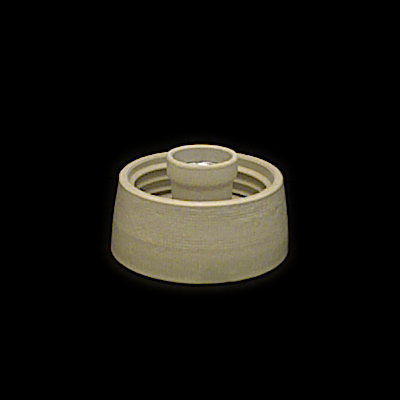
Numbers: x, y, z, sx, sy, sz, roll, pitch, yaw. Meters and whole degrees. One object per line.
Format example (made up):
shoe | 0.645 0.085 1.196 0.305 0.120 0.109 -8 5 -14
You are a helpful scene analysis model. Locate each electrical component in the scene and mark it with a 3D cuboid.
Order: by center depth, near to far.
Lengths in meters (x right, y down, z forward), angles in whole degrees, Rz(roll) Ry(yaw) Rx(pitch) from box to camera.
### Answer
electrical component | 0.000 0.000 0.645 0.108 0.061 0.106 1 21 0
